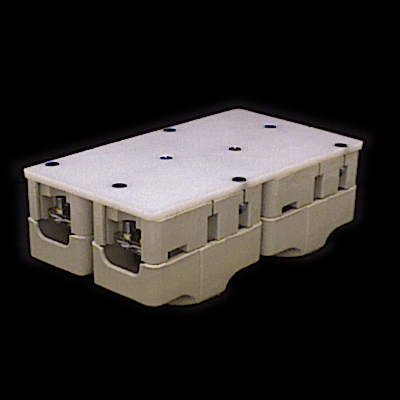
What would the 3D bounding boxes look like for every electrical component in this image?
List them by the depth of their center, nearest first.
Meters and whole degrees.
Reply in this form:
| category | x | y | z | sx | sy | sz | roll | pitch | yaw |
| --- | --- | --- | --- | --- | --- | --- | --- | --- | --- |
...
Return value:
| category | x | y | z | sx | sy | sz | roll | pitch | yaw |
| --- | --- | --- | --- | --- | --- | --- | --- | --- | --- |
| electrical component | 0.000 | 0.000 | 0.638 | 0.104 | 0.061 | 0.185 | 19 | 27 | 39 |
